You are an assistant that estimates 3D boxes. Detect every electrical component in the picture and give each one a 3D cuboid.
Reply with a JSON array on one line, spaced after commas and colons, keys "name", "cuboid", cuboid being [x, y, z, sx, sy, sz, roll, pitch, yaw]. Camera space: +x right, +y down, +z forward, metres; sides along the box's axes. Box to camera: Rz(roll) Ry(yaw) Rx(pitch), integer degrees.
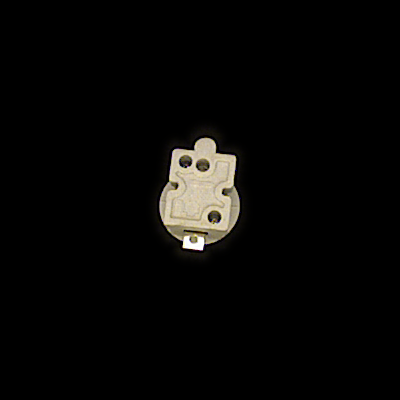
[{"name": "electrical component", "cuboid": [0.000, 0.000, 0.637, 0.048, 0.067, 0.055, 7, -15, 1]}]
